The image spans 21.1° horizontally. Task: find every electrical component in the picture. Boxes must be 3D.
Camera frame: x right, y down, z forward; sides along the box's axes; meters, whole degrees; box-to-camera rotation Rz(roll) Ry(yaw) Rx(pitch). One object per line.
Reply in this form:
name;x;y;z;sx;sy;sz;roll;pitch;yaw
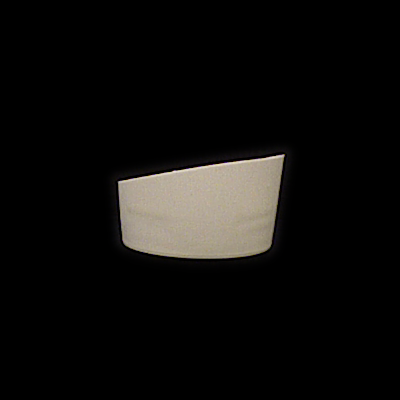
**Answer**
electrical component;0.000;0.000;0.644;0.099;0.064;0.098;2;10;0
